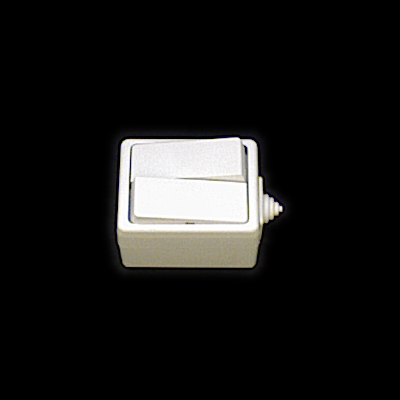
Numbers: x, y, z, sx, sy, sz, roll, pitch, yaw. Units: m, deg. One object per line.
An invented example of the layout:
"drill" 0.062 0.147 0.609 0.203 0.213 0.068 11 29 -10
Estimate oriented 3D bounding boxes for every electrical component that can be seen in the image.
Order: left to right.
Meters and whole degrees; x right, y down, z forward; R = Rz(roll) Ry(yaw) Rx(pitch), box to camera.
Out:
"electrical component" 0.000 0.000 0.627 0.096 0.062 0.061 0 -28 0
